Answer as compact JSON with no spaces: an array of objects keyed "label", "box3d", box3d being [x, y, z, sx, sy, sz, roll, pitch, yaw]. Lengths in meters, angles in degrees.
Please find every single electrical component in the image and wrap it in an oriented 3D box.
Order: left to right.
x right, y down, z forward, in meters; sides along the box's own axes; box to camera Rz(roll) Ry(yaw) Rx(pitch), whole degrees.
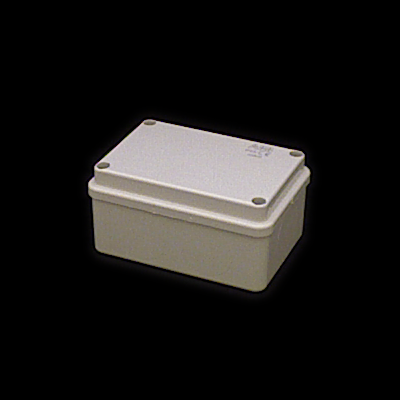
[{"label":"electrical component","box3d":[0.000,0.000,0.636,0.113,0.058,0.077,13,33,19]}]
